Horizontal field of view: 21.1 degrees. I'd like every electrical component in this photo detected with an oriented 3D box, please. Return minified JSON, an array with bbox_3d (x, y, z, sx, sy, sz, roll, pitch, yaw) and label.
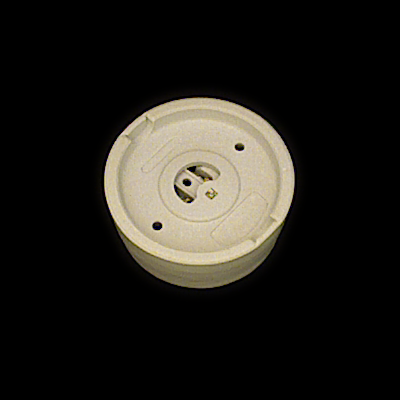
[{"bbox_3d":[0.000,0.000,0.633,0.108,0.108,0.060,0,-27,0],"label":"electrical component"}]
